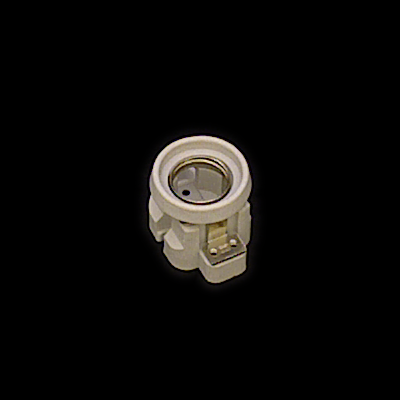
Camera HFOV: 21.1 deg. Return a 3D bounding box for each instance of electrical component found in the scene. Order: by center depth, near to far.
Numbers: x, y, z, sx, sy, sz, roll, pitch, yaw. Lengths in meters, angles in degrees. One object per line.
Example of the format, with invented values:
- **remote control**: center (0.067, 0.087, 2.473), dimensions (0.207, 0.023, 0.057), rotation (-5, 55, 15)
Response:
- **electrical component**: center (0.000, 0.000, 0.629), dimensions (0.058, 0.078, 0.057), rotation (-22, -34, -16)
